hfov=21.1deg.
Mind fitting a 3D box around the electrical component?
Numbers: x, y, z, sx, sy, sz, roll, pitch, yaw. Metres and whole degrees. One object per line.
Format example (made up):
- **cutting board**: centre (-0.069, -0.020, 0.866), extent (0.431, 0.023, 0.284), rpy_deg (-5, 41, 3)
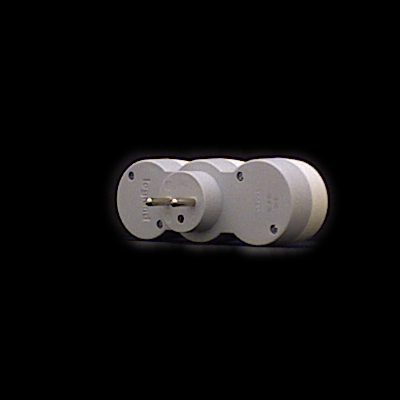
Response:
- **electrical component**: centre (0.000, 0.000, 0.649), extent (0.138, 0.052, 0.073), rpy_deg (2, 3, 39)
